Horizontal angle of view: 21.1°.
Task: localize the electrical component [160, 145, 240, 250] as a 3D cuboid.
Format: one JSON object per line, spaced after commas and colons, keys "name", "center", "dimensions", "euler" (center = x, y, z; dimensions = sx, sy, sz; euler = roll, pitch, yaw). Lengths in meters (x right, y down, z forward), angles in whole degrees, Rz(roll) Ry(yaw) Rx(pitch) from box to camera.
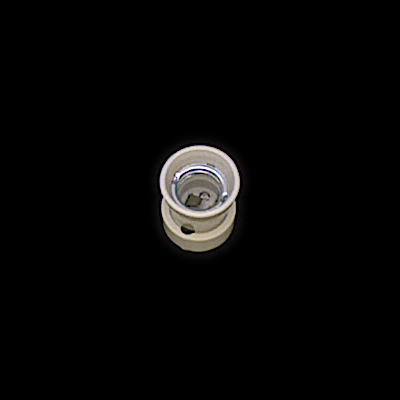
{"name": "electrical component", "center": [0.000, 0.000, 0.629], "dimensions": [0.045, 0.045, 0.055], "euler": [0, -27, -1]}
